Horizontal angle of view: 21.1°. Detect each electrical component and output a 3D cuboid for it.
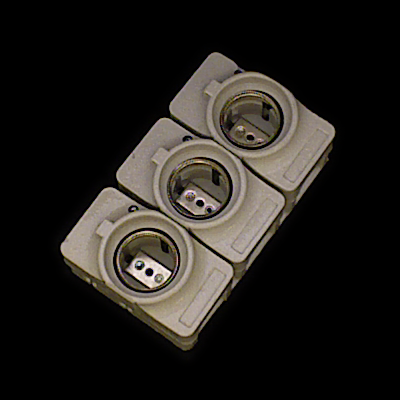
[{"bbox_3d":[0.000,0.000,0.631,0.089,0.150,0.062,34,-14,10],"label":"electrical component"}]
